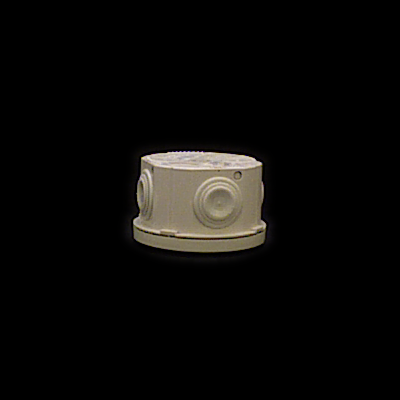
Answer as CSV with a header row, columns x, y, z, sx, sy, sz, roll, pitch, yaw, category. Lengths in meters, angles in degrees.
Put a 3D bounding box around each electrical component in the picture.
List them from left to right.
x,y,z,sx,sy,sz,roll,pitch,yaw,category
0.000,0.000,0.645,0.080,0.051,0.079,2,11,0,electrical component
